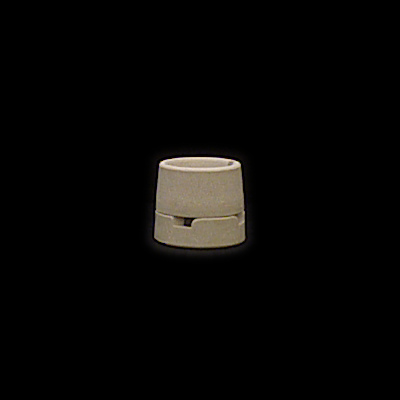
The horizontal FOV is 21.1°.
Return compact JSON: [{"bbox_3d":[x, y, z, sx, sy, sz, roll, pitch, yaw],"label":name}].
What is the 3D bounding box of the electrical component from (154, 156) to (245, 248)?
[{"bbox_3d":[0.000,0.000,0.645,0.055,0.047,0.055,0,11,0],"label":"electrical component"}]
